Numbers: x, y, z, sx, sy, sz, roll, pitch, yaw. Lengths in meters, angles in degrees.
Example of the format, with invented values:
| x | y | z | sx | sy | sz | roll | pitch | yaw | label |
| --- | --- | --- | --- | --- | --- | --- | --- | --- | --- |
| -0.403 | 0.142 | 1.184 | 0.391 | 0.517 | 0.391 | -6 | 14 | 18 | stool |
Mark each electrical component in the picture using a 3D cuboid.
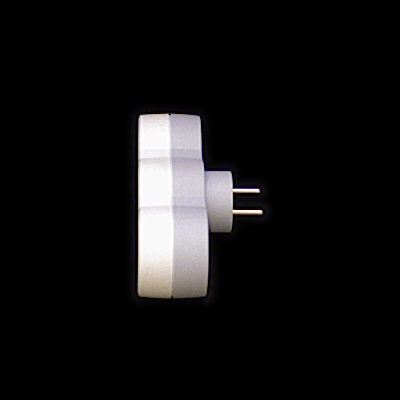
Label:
| x | y | z | sx | sy | sz | roll | pitch | yaw | label |
| --- | --- | --- | --- | --- | --- | --- | --- | --- | --- |
| 0.000 | 0.000 | 0.636 | 0.074 | 0.052 | 0.137 | 0 | 41 | -4 | electrical component |
